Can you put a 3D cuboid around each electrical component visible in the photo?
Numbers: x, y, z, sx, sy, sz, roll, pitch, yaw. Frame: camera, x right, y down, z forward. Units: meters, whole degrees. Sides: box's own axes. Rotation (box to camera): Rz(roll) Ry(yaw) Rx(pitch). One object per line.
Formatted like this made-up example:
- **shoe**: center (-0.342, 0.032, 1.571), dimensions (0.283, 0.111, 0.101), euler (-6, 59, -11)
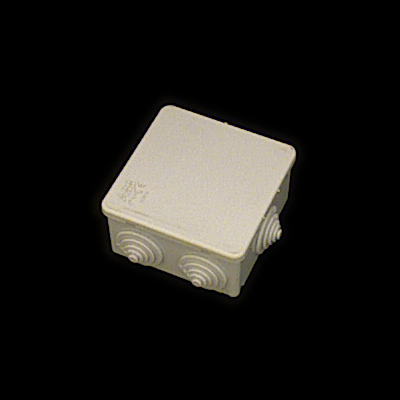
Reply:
- **electrical component**: center (0.000, 0.000, 0.640), dimensions (0.099, 0.100, 0.048), euler (20, -34, 14)
